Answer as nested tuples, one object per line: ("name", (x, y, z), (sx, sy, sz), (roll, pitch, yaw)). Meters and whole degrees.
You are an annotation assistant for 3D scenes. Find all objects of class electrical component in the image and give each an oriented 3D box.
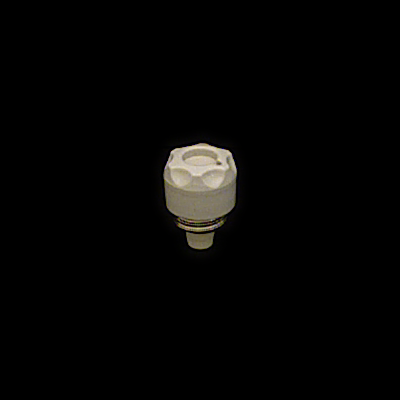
("electrical component", (0.000, 0.000, 0.641), (0.043, 0.063, 0.043), (0, 32, 1))
